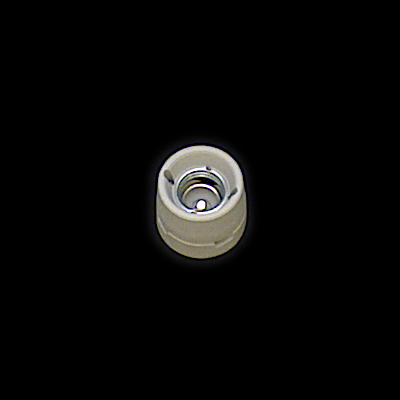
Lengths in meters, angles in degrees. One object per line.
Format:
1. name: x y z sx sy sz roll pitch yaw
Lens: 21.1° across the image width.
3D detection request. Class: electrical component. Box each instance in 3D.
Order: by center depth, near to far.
1. electrical component: 0.000 0.000 0.633 0.055 0.056 0.047 0 -28 1
